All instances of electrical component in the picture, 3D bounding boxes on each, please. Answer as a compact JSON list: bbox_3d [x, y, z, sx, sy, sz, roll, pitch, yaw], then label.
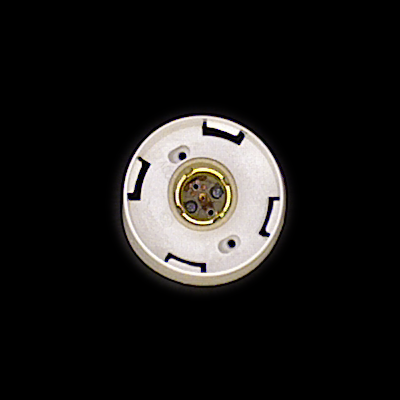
[{"bbox_3d":[0.000,0.000,0.625,0.099,0.099,0.064,0,-6,1],"label":"electrical component"}]
